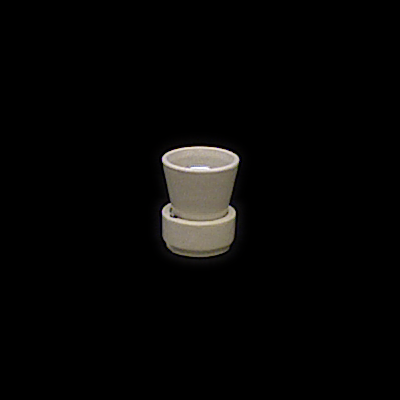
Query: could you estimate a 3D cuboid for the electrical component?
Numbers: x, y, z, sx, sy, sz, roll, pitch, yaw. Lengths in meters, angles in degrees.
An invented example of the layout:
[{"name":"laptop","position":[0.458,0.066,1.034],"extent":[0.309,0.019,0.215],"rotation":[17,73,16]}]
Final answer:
[{"name":"electrical component","position":[0.000,0.000,0.639],"extent":[0.045,0.056,0.044],"rotation":[1,22,0]}]
